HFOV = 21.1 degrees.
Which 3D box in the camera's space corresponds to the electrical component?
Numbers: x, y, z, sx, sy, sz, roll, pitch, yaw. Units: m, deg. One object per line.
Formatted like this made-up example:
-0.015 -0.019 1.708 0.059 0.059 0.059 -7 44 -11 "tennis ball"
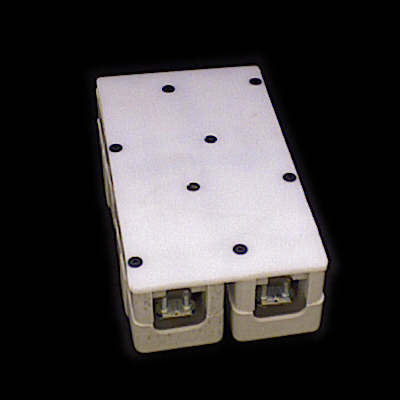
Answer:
0.000 0.000 0.629 0.106 0.061 0.184 -6 42 -7 "electrical component"
